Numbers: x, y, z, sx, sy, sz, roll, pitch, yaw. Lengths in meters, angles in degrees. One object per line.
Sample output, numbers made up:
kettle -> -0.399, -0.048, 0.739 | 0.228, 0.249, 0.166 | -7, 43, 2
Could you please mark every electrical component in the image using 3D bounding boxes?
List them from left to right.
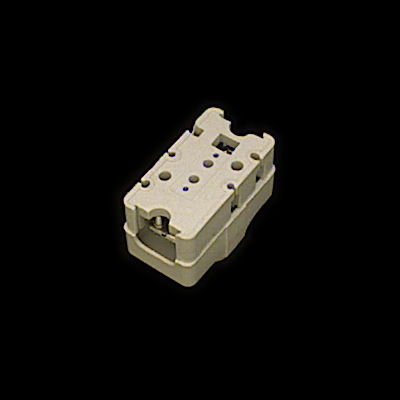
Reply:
electrical component -> 0.000, 0.000, 0.637 | 0.050, 0.090, 0.056 | 29, -32, 21
